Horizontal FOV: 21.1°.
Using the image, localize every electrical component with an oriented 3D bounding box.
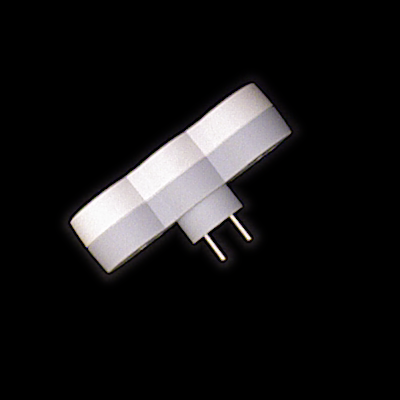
[{"bbox_3d":[0.000,0.000,0.632,0.138,0.074,0.052,-38,-3,-5],"label":"electrical component"}]
